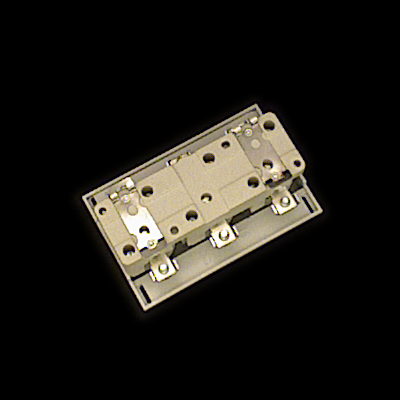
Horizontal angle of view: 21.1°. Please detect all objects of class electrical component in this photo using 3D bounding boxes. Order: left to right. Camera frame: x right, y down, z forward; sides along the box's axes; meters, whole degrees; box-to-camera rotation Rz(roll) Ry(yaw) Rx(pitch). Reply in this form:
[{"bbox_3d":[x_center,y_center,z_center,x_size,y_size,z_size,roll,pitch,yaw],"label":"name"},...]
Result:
[{"bbox_3d":[0.000,0.000,0.634,0.122,0.078,0.063,-29,-15,-8],"label":"electrical component"}]
